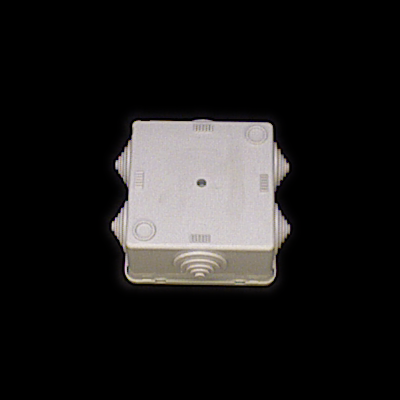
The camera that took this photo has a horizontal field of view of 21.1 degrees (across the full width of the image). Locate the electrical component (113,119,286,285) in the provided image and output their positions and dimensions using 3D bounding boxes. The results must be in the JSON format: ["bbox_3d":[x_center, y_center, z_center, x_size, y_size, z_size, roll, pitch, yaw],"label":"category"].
[{"bbox_3d":[0.000,0.000,0.632,0.100,0.100,0.048,1,-27,0],"label":"electrical component"}]
